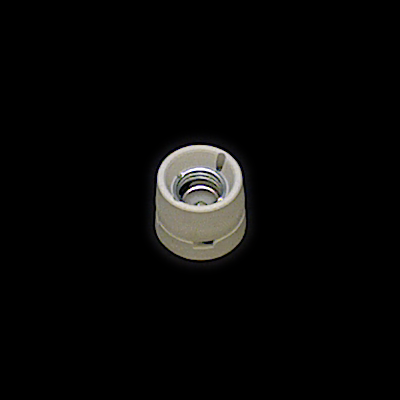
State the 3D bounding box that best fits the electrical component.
[{"bbox_3d":[0.000,0.000,0.633,0.055,0.055,0.047,0,-37,1],"label":"electrical component"}]
